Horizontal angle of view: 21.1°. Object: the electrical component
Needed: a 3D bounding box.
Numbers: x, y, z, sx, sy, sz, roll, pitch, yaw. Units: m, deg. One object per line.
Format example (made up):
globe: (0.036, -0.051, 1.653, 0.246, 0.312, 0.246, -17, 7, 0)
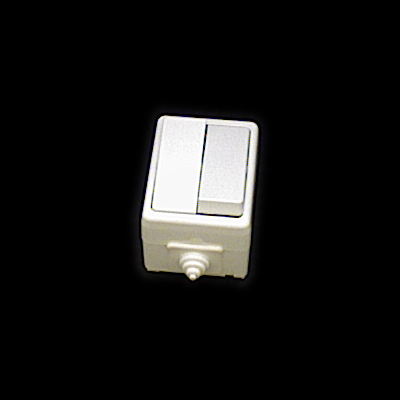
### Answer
electrical component: (0.000, 0.000, 0.626, 0.062, 0.096, 0.061, 5, -38, 3)
